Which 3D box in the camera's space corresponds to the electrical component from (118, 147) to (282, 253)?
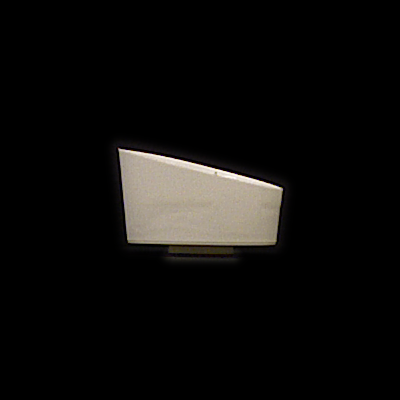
[{"bbox_3d":[0.000,0.000,0.649,0.099,0.064,0.099,0,0,0],"label":"electrical component"}]
